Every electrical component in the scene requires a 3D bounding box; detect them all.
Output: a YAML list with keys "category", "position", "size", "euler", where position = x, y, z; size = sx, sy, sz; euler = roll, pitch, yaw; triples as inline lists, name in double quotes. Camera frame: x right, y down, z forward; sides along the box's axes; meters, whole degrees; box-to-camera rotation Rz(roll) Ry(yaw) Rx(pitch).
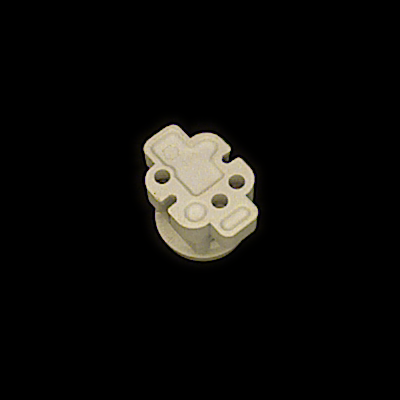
- category: "electrical component"
  position: [0.000, 0.000, 0.636]
  size: [0.058, 0.078, 0.057]
  euler: [-38, -22, -16]
